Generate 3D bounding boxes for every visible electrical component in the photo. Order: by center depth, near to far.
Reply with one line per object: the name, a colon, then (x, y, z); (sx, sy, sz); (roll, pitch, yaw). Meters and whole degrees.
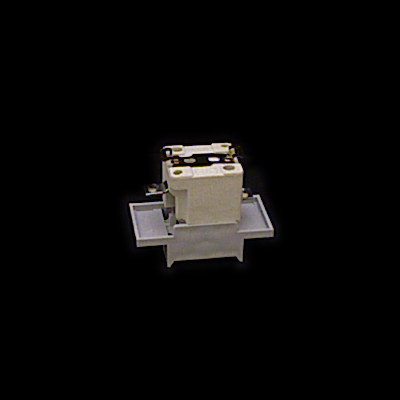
electrical component: (0.000, 0.000, 0.634); (0.081, 0.064, 0.041); (-5, 32, -9)
